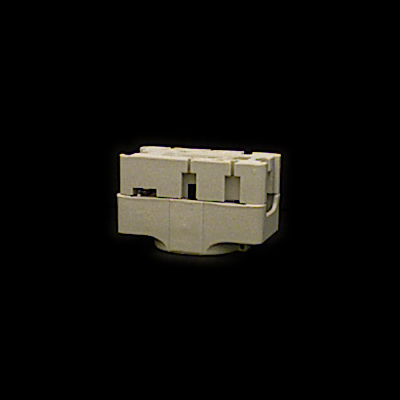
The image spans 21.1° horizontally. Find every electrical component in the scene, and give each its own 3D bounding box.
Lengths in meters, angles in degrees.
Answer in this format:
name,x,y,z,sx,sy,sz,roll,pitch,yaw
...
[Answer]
name,x,y,z,sx,sy,sz,roll,pitch,yaw
electrical component,0.000,0.000,0.652,0.089,0.056,0.050,5,12,16
